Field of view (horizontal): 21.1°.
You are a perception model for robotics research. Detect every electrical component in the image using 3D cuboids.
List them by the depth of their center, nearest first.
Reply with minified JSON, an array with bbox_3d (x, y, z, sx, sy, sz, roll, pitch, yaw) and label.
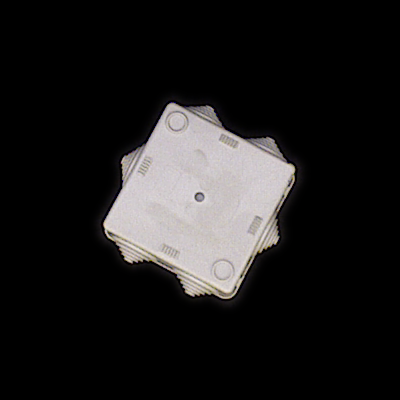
[{"bbox_3d":[0.000,0.000,0.632,0.100,0.100,0.048,28,-6,3],"label":"electrical component"}]
